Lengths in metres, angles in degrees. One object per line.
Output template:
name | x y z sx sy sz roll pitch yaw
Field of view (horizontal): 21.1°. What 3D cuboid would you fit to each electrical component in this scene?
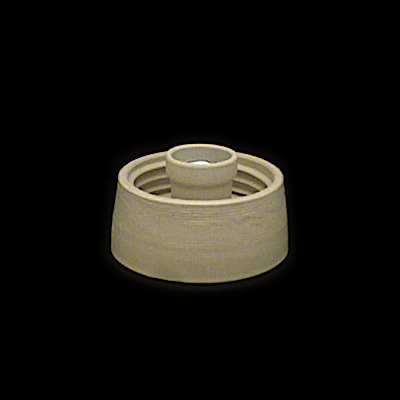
electrical component | 0.000 0.000 0.644 0.108 0.061 0.106 1 21 0
